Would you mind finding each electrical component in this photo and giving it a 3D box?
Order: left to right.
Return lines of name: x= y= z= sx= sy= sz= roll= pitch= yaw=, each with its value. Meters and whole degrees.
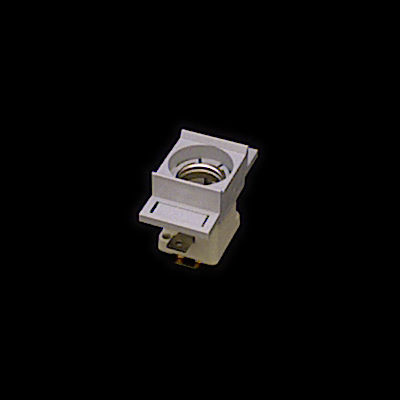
electrical component: x=0.000 y=0.000 z=0.627 sx=0.042 sy=0.064 sz=0.080 roll=16 pitch=44 yaw=15
